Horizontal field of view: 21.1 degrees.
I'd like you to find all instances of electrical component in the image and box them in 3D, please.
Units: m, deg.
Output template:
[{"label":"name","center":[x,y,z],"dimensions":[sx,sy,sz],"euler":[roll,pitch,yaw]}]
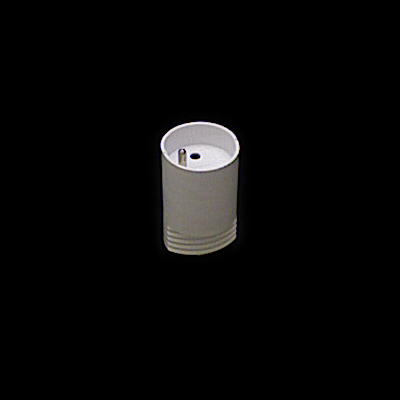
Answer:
[{"label":"electrical component","center":[0.000,0.000,0.621],"dimensions":[0.043,0.082,0.042],"euler":[0,41,0]}]
